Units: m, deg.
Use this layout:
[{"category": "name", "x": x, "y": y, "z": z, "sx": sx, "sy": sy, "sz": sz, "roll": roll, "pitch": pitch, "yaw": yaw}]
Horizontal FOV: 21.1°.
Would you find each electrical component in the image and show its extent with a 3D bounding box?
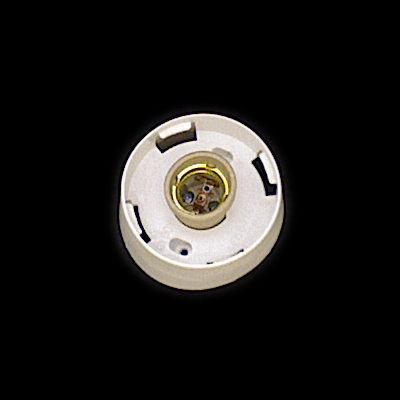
[{"category": "electrical component", "x": 0.000, "y": 0.000, "z": 0.625, "sx": 0.099, "sy": 0.099, "sz": 0.064, "roll": 0, "pitch": -17, "yaw": 0}]
